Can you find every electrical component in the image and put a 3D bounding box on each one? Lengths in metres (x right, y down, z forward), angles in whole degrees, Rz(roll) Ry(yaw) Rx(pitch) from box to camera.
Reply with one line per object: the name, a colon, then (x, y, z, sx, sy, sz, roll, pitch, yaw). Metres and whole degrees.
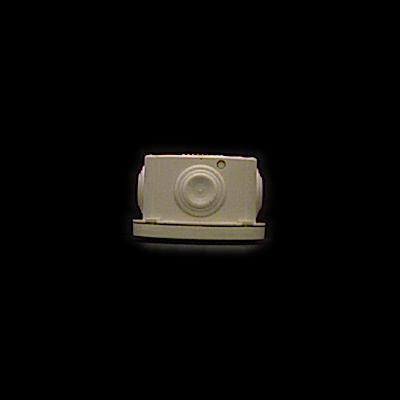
electrical component: (0.000, 0.000, 0.649, 0.080, 0.051, 0.080, 2, 1, 0)
